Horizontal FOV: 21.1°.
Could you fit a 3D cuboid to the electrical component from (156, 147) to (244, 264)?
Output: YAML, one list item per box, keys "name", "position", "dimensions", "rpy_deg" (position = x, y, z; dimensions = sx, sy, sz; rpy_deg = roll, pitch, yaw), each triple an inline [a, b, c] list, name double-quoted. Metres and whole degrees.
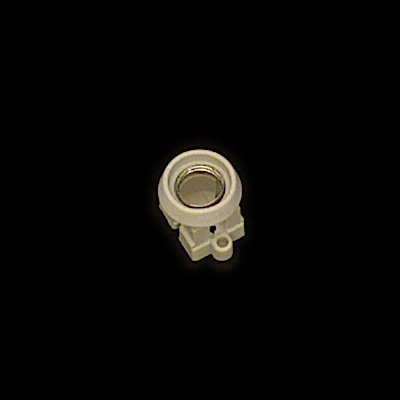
- name: "electrical component"
  position: [0.000, 0.000, 0.637]
  dimensions: [0.049, 0.066, 0.055]
  rpy_deg: [-28, -23, -15]
